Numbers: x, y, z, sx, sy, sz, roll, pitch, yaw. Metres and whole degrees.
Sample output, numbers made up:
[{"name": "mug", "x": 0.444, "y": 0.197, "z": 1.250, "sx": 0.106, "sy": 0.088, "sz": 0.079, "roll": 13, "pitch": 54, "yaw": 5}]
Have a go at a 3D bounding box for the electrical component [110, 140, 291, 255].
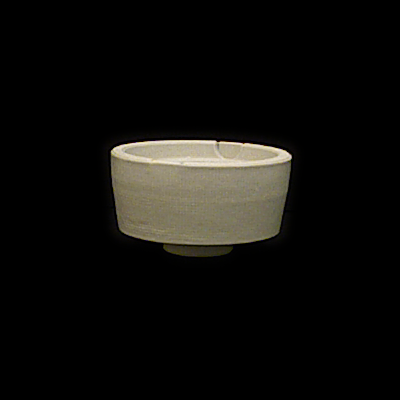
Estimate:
[{"name": "electrical component", "x": 0.000, "y": 0.000, "z": 0.647, "sx": 0.108, "sy": 0.061, "sz": 0.107, "roll": 1, "pitch": 10, "yaw": 0}]
